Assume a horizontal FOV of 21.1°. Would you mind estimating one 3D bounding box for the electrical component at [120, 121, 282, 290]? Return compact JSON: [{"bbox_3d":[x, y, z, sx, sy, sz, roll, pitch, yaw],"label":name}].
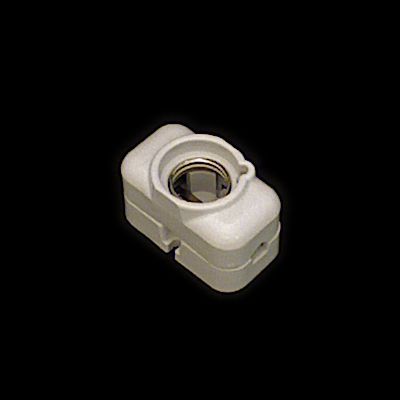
[{"bbox_3d":[0.000,0.000,0.636,0.094,0.054,0.059,36,-29,23],"label":"electrical component"}]
